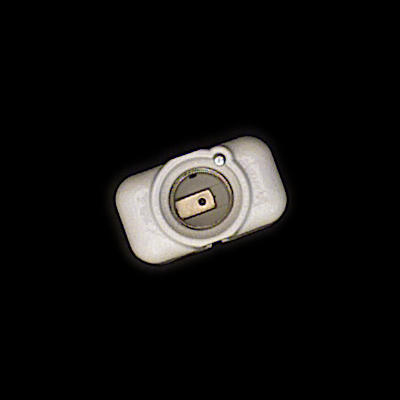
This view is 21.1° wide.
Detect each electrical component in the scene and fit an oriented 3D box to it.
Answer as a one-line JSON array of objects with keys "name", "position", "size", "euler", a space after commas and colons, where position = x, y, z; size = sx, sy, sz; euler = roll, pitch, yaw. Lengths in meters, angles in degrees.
[{"name": "electrical component", "position": [0.000, 0.000, 0.635], "size": [0.095, 0.054, 0.059], "euler": [-20, -5, -2]}]
